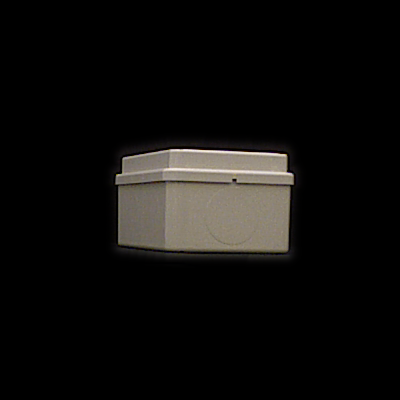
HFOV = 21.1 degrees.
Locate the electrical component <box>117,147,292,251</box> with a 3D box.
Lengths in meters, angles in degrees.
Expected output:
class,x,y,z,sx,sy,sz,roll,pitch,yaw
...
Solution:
class,x,y,z,sx,sy,sz,roll,pitch,yaw
electrical component,0.000,0.000,0.650,0.078,0.057,0.113,1,0,-20
